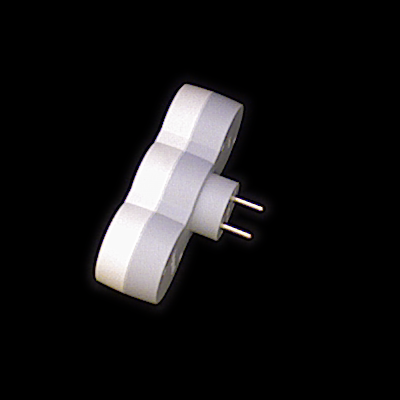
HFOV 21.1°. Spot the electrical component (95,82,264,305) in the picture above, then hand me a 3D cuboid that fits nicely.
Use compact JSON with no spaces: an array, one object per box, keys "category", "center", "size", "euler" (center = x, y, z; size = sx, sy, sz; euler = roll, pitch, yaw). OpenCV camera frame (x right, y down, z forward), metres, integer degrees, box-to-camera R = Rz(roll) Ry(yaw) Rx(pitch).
[{"category":"electrical component","center":[0.000,0.000,0.632],"size":[0.073,0.138,0.052],"euler":[21,-26,8]}]
